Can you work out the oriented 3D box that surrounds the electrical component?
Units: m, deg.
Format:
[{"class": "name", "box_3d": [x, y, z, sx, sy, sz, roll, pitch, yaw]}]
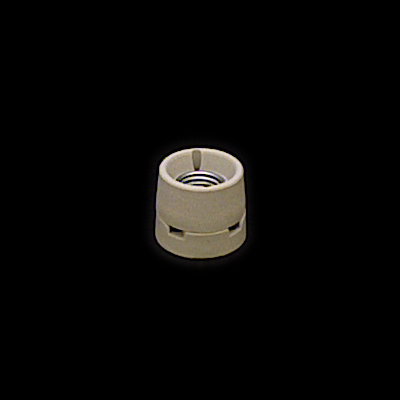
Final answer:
[{"class": "electrical component", "box_3d": [0.000, 0.000, 0.636, 0.055, 0.047, 0.055, 0, 32, 0]}]
